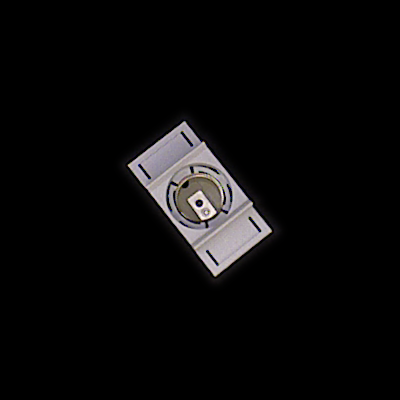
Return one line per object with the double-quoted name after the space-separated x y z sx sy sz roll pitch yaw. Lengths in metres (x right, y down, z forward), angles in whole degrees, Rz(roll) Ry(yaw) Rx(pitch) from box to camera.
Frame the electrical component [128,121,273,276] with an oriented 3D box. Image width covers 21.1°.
0.000 0.000 0.624 0.042 0.081 0.063 -38 -5 -5 "electrical component"
